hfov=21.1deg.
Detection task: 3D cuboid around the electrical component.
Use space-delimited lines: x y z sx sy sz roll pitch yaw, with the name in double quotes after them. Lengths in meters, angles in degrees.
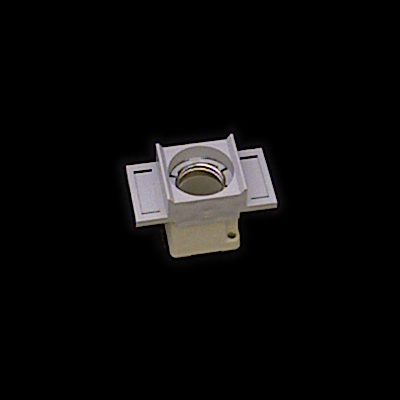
0.000 0.000 0.625 0.081 0.042 0.064 -8 -37 -7 "electrical component"
